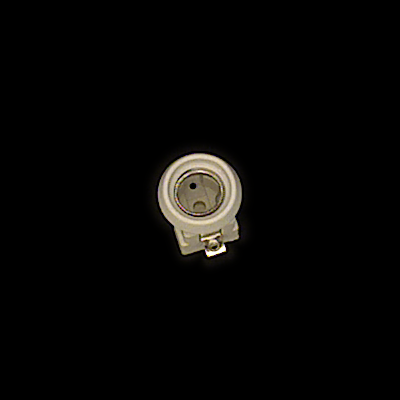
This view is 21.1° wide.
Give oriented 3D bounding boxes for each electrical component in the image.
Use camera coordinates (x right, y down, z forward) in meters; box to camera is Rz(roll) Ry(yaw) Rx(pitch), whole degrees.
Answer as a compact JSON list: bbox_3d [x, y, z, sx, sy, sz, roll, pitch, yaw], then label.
[{"bbox_3d":[0.000,0.000,0.637,0.048,0.066,0.055,-19,-15,-3],"label":"electrical component"}]
